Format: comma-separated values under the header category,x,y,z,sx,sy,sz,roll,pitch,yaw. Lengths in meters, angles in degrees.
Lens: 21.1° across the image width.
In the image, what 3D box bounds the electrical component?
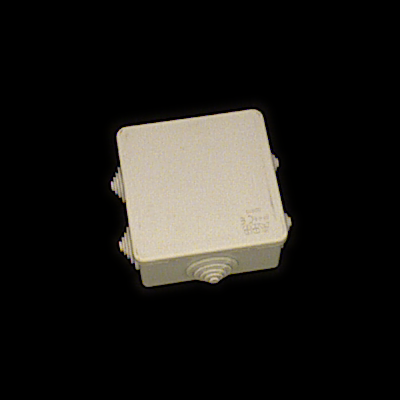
category,x,y,z,sx,sy,sz,roll,pitch,yaw
electrical component,0.000,0.000,0.639,0.100,0.100,0.048,-8,-26,-5
